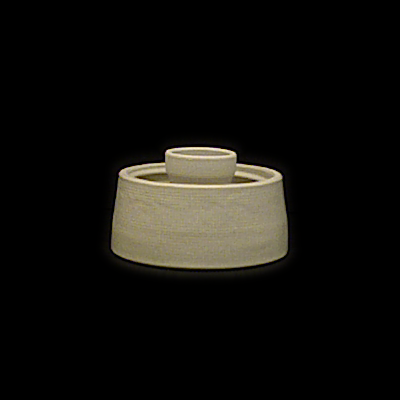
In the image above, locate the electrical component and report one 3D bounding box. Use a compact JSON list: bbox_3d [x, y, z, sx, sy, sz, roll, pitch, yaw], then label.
[{"bbox_3d":[0.000,0.000,0.650,0.108,0.061,0.107,1,11,0],"label":"electrical component"}]
